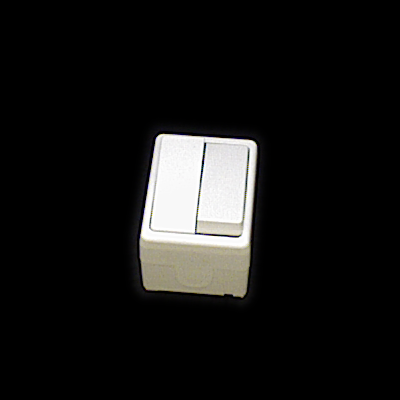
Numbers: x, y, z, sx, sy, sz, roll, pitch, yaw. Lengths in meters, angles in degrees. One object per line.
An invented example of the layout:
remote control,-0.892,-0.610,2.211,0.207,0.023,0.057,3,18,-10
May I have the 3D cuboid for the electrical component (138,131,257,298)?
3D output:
electrical component,0.000,0.000,0.630,0.062,0.096,0.061,5,-38,3
